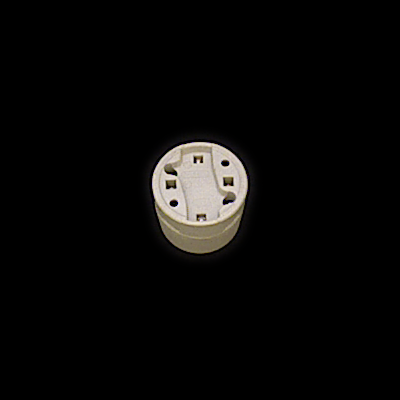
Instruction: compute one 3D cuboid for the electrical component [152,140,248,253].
[{"bbox_3d":[0.000,0.000,0.634,0.055,0.056,0.047,0,-27,-1],"label":"electrical component"}]
